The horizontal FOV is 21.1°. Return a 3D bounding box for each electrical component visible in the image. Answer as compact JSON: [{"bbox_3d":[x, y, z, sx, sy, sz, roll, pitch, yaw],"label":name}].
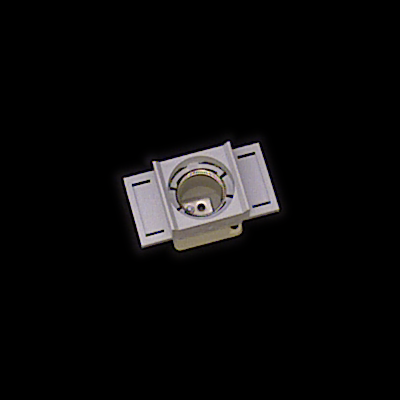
[{"bbox_3d":[0.000,0.000,0.623,0.081,0.042,0.063,-15,-15,-5],"label":"electrical component"}]
